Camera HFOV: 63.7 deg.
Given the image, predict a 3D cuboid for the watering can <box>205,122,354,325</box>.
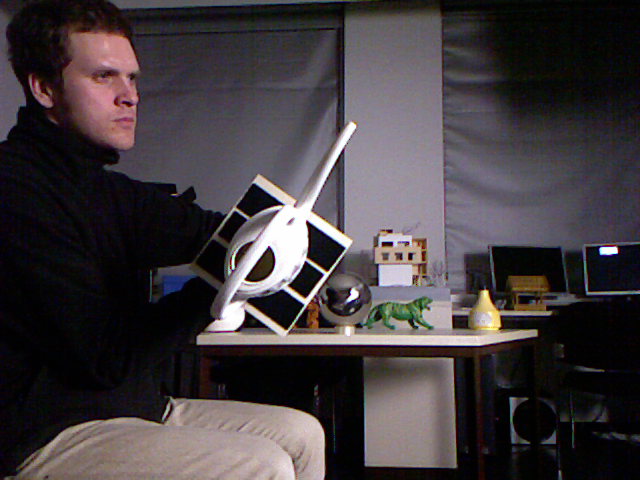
[{"bbox_3d":[-0.052,-0.015,0.794,0.105,0.349,0.224,37,-1,5],"label":"watering can"}]
